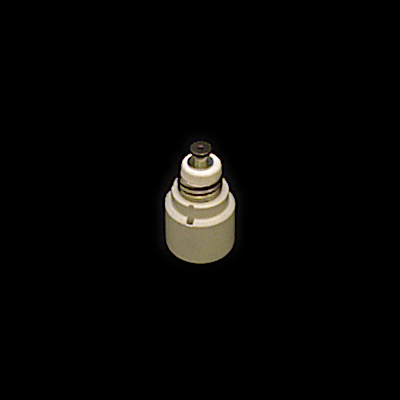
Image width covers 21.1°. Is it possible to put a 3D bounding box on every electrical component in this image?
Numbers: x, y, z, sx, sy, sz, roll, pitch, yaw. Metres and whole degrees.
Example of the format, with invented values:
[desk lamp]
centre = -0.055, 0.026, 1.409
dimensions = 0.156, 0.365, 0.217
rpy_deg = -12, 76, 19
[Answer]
[electrical component]
centre = 0.000, 0.000, 0.626
dimensions = 0.040, 0.079, 0.039
rpy_deg = 1, 43, 0
